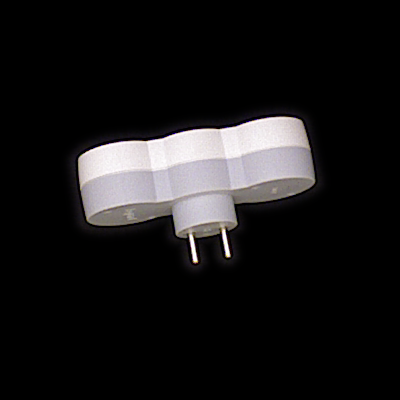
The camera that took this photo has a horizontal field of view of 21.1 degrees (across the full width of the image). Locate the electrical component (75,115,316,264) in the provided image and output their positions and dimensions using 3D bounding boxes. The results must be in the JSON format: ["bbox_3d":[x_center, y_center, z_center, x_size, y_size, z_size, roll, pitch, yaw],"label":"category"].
[{"bbox_3d":[0.000,0.000,0.631,0.138,0.074,0.052,-9,-15,-4],"label":"electrical component"}]
